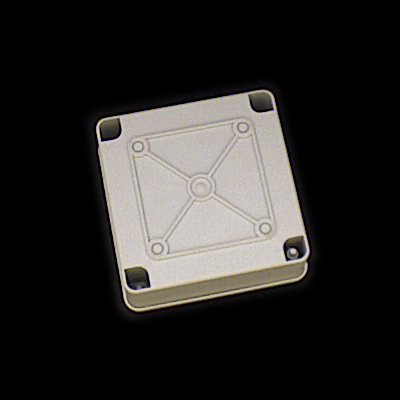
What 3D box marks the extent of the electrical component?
[{"bbox_3d":[0.000,0.000,0.628,0.109,0.109,0.056,-10,-16,-3],"label":"electrical component"}]
